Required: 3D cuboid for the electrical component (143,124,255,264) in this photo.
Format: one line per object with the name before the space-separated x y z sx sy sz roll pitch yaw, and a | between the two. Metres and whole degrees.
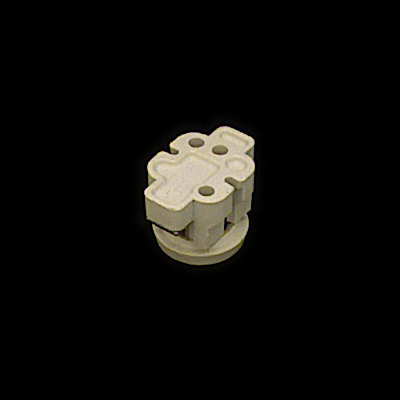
electrical component | 0.000 0.000 0.637 0.057 0.057 0.078 27 50 25
